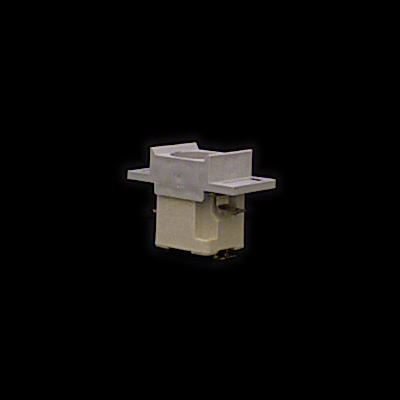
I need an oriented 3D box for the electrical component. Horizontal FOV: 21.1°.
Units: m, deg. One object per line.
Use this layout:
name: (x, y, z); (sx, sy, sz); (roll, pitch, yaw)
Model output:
electrical component: (0.000, 0.000, 0.645); (0.080, 0.064, 0.042); (10, 15, 38)
